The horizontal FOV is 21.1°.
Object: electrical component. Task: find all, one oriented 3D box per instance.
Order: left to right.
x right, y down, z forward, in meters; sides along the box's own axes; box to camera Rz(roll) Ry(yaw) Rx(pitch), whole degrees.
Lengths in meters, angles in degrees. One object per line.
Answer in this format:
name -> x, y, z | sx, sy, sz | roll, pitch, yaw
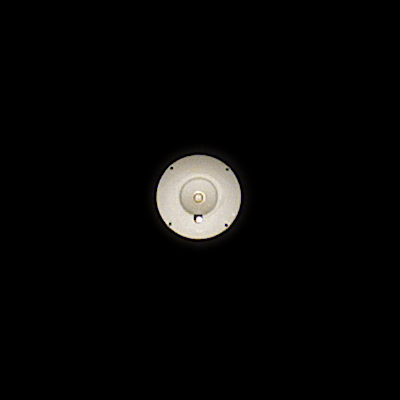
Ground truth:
electrical component -> 0.000, 0.000, 0.634 | 0.048, 0.048, 0.062 | 0, -5, 1
